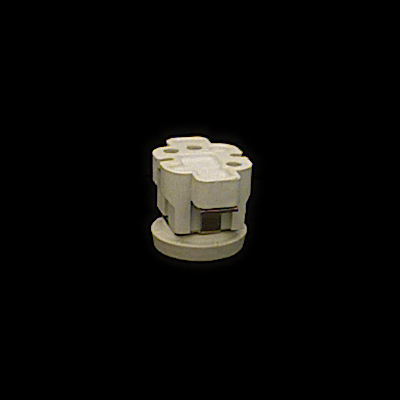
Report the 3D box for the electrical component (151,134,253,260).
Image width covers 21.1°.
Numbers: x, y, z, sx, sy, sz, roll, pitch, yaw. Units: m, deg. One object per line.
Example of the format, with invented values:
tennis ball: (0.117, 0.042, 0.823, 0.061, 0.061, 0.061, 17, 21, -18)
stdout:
electrical component: (0.000, 0.000, 0.645, 0.058, 0.057, 0.077, -5, 24, -17)
